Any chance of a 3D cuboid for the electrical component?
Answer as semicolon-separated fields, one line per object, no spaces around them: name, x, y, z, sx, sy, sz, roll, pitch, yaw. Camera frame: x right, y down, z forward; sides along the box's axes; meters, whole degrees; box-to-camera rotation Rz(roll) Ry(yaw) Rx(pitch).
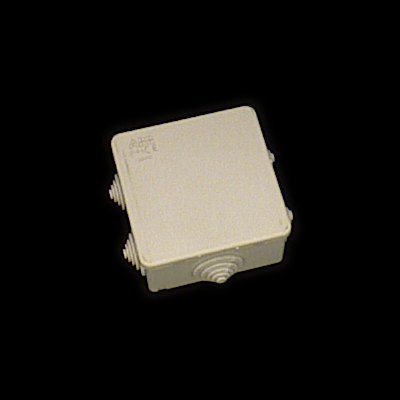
electrical component;0.000;0.000;0.639;0.100;0.099;0.048;-13;-26;-7
